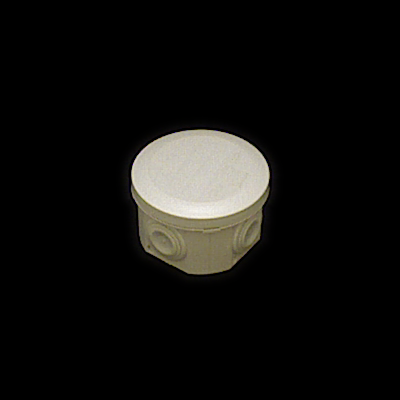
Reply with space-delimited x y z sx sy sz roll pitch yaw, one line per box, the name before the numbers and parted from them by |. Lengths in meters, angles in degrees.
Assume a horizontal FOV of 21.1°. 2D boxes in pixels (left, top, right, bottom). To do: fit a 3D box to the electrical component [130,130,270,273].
electrical component | 0.000 0.000 0.631 0.080 0.051 0.080 0 42 0
